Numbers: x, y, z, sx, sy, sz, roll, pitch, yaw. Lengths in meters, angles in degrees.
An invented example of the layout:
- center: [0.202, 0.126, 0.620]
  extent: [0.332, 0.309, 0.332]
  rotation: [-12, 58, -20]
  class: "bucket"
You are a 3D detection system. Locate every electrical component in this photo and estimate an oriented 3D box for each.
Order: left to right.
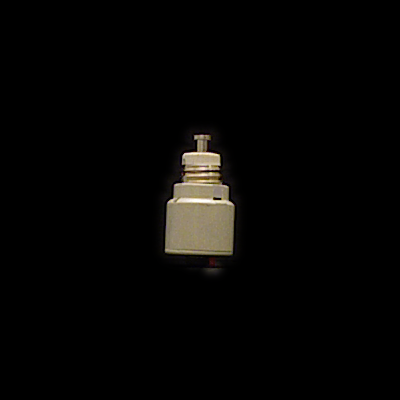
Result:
- center: [0.000, 0.000, 0.648]
  extent: [0.040, 0.078, 0.040]
  rotation: [2, 0, 0]
  class: "electrical component"
